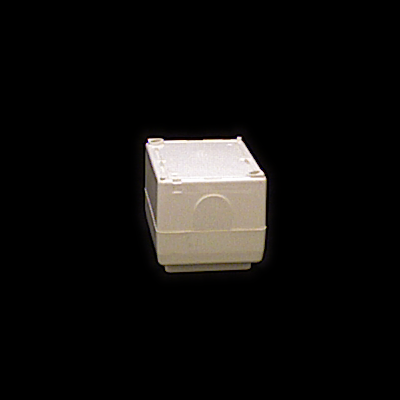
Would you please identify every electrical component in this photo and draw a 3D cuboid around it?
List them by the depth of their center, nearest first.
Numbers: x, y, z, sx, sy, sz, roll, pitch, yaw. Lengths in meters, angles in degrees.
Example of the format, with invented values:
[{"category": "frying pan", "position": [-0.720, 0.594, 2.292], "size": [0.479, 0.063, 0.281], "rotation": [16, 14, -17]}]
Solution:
[{"category": "electrical component", "position": [0.000, 0.000, 0.641], "size": [0.062, 0.061, 0.095], "rotation": [-2, 20, -8]}]
